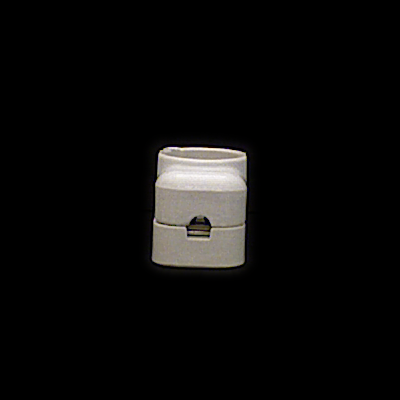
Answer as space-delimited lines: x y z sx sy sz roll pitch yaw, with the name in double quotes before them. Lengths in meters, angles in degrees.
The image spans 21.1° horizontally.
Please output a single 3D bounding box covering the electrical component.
"electrical component" 0.000 0.000 0.651 0.054 0.060 0.094 1 11 0
